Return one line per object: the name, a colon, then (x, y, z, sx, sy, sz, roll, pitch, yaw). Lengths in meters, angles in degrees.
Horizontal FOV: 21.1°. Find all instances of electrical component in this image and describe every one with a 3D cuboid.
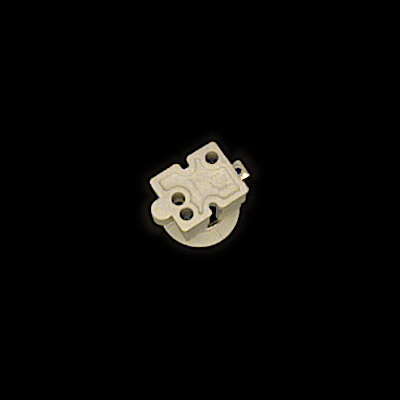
electrical component: (0.000, 0.000, 0.637, 0.067, 0.048, 0.055, -32, -15, -10)
